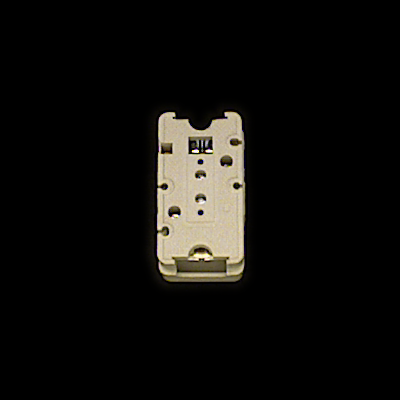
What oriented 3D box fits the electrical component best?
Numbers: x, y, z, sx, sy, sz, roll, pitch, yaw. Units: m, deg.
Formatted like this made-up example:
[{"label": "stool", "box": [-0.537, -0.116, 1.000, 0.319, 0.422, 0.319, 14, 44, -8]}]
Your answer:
[{"label": "electrical component", "box": [0.000, 0.000, 0.636, 0.050, 0.090, 0.055, 0, -17, 1]}]
